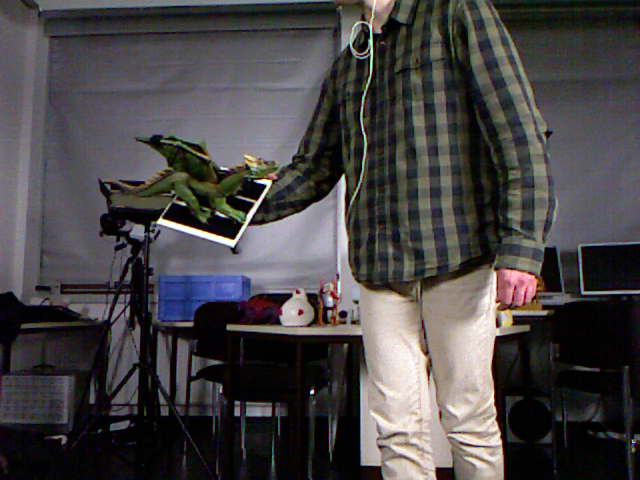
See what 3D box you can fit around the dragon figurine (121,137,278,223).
[{"bbox_3d":[-0.289,-0.149,1.121,0.411,0.125,0.238,4,-30,8],"label":"dragon figurine"}]
